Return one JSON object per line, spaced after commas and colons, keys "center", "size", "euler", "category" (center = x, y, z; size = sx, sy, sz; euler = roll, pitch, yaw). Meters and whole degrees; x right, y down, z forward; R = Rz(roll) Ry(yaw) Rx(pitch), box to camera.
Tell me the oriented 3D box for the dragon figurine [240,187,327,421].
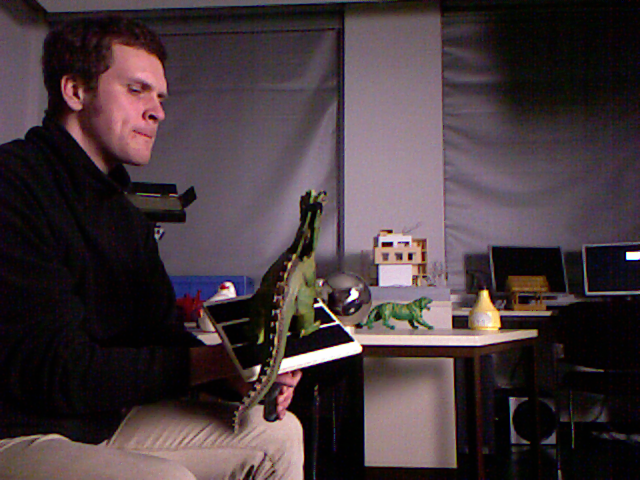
{"center": [-0.043, 0.041, 0.786], "size": [0.122, 0.238, 0.420], "euler": [11, 29, 0], "category": "dragon figurine"}
